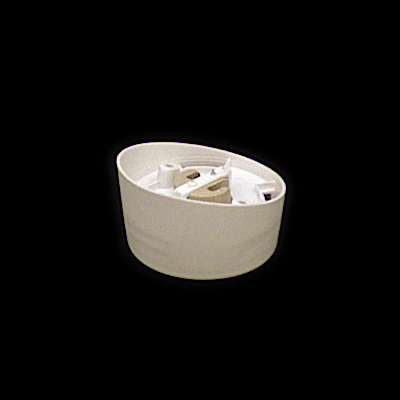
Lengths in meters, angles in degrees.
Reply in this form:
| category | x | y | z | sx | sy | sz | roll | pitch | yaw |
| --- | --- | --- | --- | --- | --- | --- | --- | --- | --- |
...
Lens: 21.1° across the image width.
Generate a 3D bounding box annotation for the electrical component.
| category | x | y | z | sx | sy | sz | roll | pitch | yaw |
| --- | --- | --- | --- | --- | --- | --- | --- | --- | --- |
| electrical component | 0.000 | 0.000 | 0.632 | 0.099 | 0.065 | 0.097 | 1 | 32 | 0 |
